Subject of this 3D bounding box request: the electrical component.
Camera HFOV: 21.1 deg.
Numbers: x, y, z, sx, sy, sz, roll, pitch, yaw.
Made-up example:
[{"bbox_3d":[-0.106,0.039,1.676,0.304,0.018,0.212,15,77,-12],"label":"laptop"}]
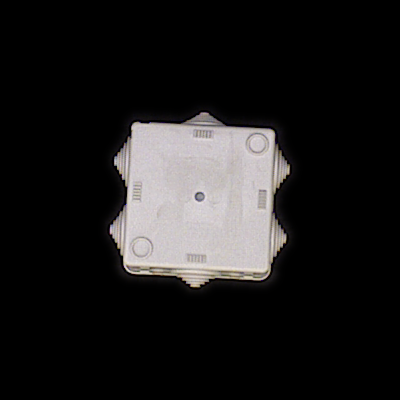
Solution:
[{"bbox_3d":[0.000,0.000,0.633,0.100,0.100,0.048,3,-7,0],"label":"electrical component"}]
